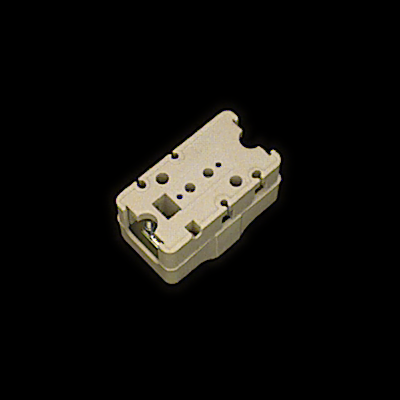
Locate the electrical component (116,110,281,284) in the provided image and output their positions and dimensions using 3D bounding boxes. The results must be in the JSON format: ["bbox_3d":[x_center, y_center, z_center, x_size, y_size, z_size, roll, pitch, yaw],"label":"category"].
[{"bbox_3d":[0.000,0.000,0.636,0.090,0.050,0.055,-40,-19,-17],"label":"electrical component"}]
